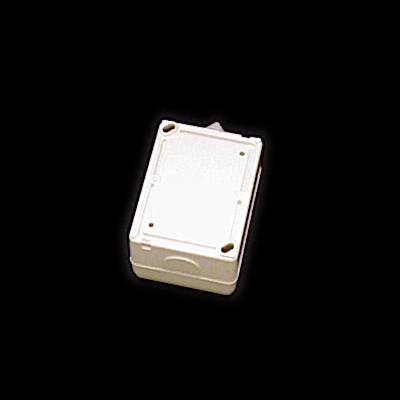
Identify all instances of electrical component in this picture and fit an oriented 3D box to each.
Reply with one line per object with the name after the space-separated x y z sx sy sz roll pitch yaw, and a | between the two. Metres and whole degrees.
0.000 0.000 0.628 0.062 0.096 0.061 11 -28 5 | electrical component
